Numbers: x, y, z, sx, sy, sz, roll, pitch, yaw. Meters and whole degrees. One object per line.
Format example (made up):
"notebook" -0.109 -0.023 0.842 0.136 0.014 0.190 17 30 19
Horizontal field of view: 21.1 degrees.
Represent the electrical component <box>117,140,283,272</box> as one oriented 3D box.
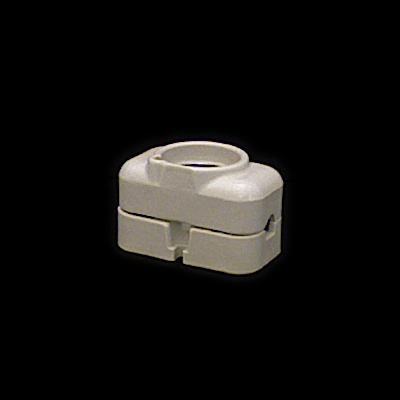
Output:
"electrical component" 0.000 0.000 0.644 0.094 0.060 0.053 11 24 24
